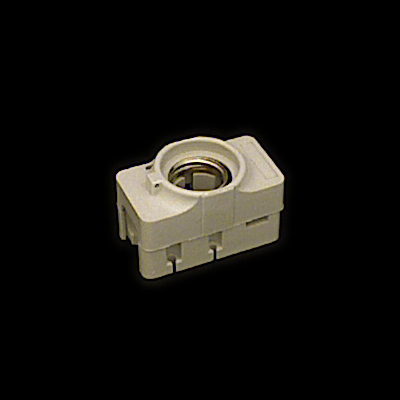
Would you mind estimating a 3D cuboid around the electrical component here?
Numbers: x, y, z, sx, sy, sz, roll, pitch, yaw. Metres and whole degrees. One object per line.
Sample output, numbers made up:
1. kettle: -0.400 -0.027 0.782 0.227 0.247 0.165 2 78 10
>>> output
1. electrical component: 0.000 0.000 0.640 0.090 0.056 0.049 -17 45 -19
